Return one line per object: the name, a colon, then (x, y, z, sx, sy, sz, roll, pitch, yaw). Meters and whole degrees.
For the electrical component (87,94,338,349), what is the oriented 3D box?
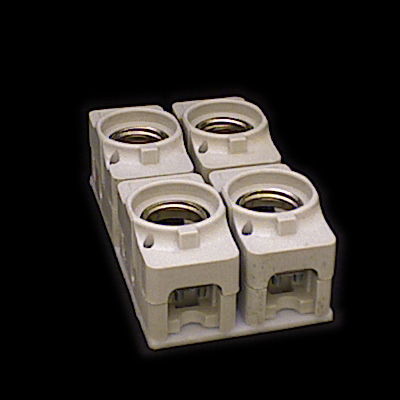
electrical component: (0.000, 0.000, 0.634, 0.105, 0.061, 0.183, -7, 32, -13)
